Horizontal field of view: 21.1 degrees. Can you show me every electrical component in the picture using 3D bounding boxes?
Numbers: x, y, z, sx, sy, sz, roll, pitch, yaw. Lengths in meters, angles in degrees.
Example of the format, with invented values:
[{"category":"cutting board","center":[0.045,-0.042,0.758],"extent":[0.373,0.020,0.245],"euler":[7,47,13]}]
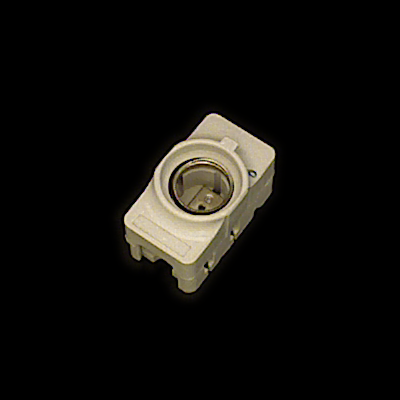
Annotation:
[{"category":"electrical component","center":[0.000,0.000,0.636],"extent":[0.050,0.090,0.055],"euler":[32,-22,15]}]
